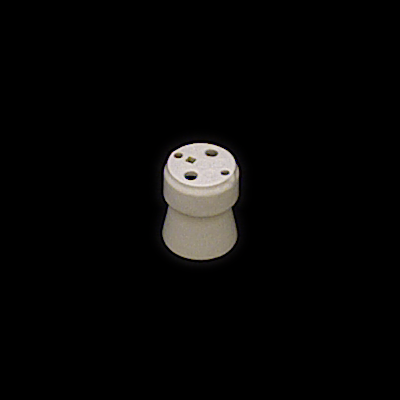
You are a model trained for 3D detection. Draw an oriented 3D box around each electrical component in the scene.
[{"bbox_3d":[0.000,0.000,0.633,0.045,0.055,0.044,1,42,-1],"label":"electrical component"}]
